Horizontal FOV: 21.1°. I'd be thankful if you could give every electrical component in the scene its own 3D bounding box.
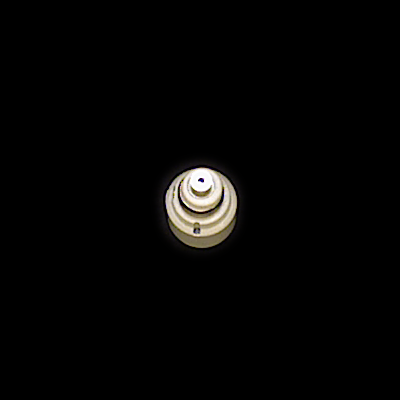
[{"bbox_3d":[0.000,0.000,0.618,0.040,0.040,0.078,0,-16,0],"label":"electrical component"}]
